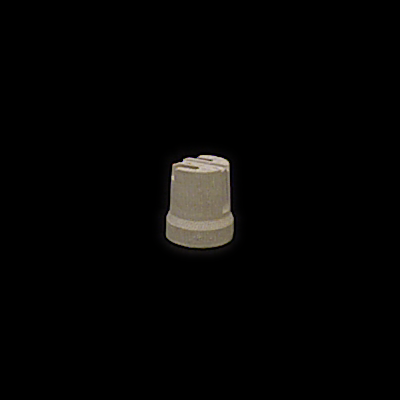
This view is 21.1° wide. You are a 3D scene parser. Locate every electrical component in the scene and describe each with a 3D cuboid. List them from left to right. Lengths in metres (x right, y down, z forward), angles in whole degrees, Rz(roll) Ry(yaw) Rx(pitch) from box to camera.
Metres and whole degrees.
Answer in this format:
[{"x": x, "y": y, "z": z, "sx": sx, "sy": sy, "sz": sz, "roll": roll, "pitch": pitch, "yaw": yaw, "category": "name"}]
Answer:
[{"x": 0.000, "y": 0.000, "z": 0.643, "sx": 0.040, "sy": 0.046, "sz": 0.040, "roll": 1, "pitch": 21, "yaw": 0, "category": "electrical component"}]
